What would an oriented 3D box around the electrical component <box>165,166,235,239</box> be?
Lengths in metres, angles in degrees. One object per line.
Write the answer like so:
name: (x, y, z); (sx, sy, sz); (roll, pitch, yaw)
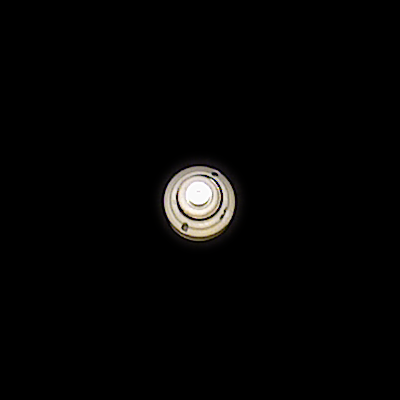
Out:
electrical component: (0.000, 0.000, 0.618); (0.040, 0.040, 0.078); (0, -7, 0)
